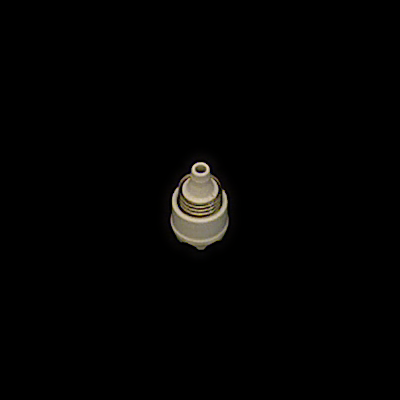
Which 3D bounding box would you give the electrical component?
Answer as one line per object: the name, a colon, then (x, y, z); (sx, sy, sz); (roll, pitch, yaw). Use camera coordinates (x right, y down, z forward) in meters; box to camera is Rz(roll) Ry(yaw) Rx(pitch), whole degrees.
electrical component: (0.000, 0.000, 0.640); (0.035, 0.035, 0.062); (0, -37, -2)
